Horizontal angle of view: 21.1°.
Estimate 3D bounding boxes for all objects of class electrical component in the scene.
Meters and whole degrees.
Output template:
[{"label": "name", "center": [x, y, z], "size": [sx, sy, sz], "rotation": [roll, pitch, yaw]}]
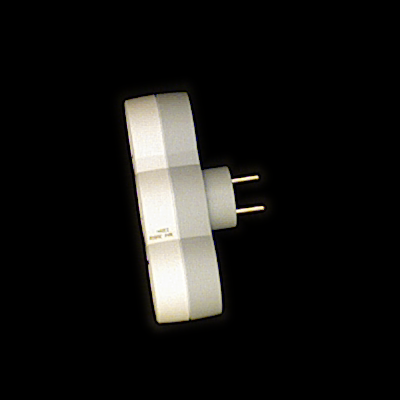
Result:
[{"label": "electrical component", "center": [0.000, 0.000, 0.637], "size": [0.074, 0.138, 0.052], "rotation": [-8, -16, -4]}]
